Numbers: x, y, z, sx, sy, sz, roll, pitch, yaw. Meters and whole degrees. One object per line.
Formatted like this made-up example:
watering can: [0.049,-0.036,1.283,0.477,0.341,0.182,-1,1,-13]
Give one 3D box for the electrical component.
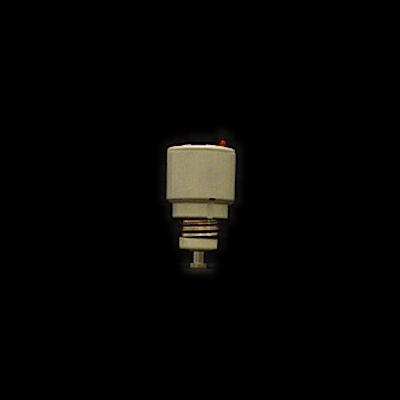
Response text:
electrical component: [0.000,0.000,0.650,0.040,0.078,0.040,2,1,0]
